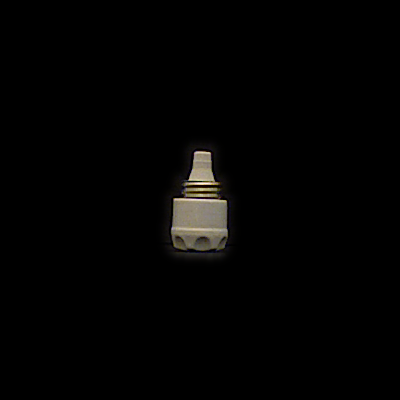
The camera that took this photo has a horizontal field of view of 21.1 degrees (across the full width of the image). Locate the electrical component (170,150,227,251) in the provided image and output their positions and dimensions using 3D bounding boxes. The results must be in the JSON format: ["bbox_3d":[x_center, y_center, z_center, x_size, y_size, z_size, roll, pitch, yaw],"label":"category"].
[{"bbox_3d":[0.000,0.000,0.664,0.035,0.061,0.035,3,3,0],"label":"electrical component"}]
